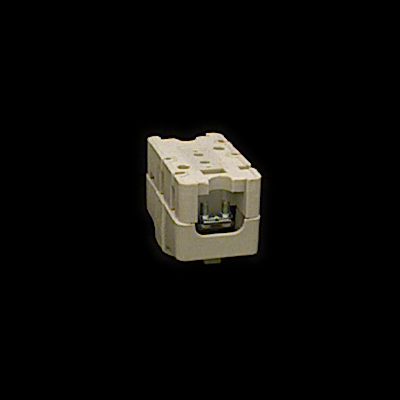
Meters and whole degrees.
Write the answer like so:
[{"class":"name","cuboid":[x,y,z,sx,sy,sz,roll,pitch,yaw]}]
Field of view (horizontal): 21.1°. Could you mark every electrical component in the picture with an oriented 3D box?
[{"class":"electrical component","cuboid":[0.000,0.000,0.647,0.050,0.056,0.088,-4,23,-15]}]
